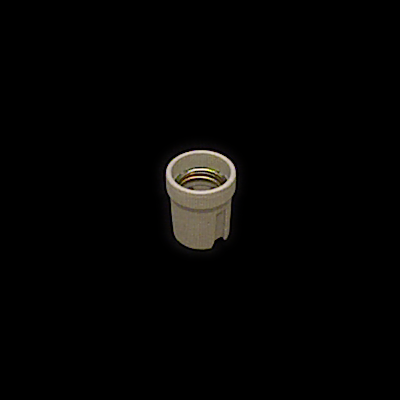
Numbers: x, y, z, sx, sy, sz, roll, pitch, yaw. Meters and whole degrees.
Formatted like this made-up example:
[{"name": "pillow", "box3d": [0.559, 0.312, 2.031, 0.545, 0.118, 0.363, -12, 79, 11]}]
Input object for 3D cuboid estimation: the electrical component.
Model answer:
[{"name": "electrical component", "box3d": [0.000, 0.000, 0.634, 0.040, 0.047, 0.039, 1, 42, 0]}]
